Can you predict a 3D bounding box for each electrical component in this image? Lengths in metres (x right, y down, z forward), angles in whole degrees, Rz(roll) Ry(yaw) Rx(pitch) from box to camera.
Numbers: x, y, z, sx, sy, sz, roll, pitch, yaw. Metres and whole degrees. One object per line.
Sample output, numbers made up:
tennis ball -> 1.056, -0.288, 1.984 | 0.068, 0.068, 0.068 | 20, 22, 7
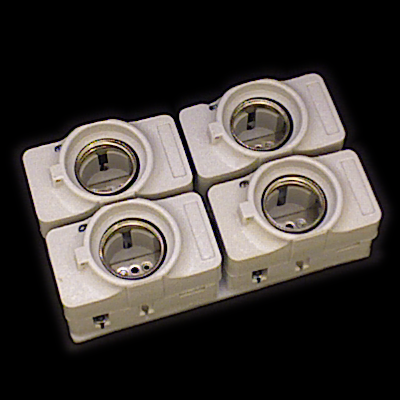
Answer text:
electrical component -> 0.000, 0.000, 0.625 | 0.186, 0.105, 0.060 | -16, -26, -8
